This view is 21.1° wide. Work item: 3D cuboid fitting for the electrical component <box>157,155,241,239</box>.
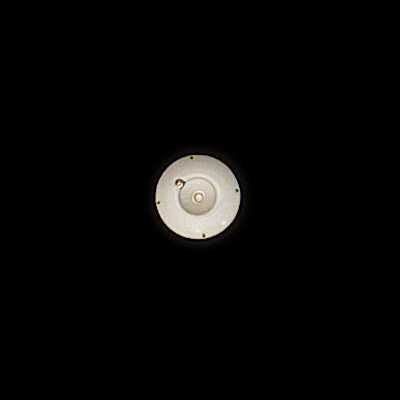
[{"bbox_3d":[0.000,0.000,0.634,0.048,0.048,0.061,0,-6,1],"label":"electrical component"}]
